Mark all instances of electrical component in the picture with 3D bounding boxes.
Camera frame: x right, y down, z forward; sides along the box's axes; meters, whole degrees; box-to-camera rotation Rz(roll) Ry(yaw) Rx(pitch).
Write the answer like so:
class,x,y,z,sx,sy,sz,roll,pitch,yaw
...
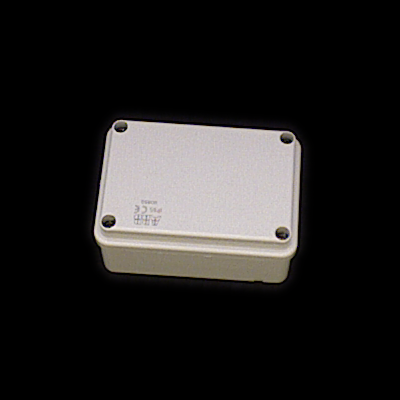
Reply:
class,x,y,z,sx,sy,sz,roll,pitch,yaw
electrical component,0.000,0.000,0.626,0.113,0.078,0.057,4,-27,1
